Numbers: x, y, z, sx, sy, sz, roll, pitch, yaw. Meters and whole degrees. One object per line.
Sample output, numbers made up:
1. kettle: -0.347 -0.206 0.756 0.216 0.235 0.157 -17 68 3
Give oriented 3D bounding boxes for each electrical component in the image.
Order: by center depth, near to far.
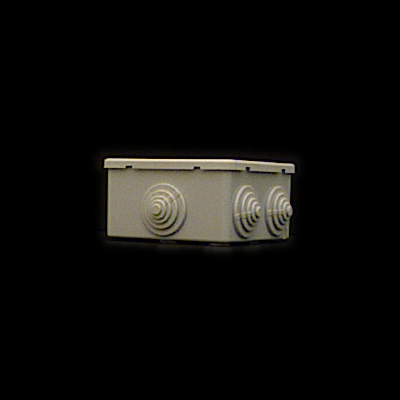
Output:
1. electrical component: 0.000 0.000 0.656 0.099 0.048 0.100 2 1 30
